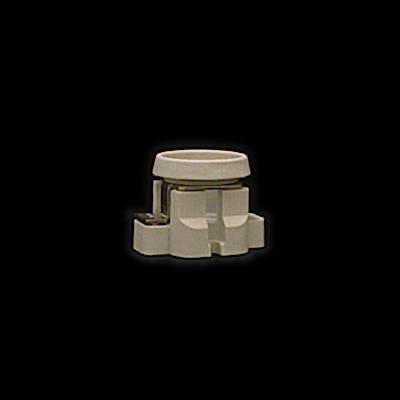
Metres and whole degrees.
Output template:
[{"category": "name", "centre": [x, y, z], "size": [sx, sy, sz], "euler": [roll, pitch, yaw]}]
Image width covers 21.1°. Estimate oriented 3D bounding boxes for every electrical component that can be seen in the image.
[{"category": "electrical component", "centre": [0.000, 0.000, 0.642], "size": [0.079, 0.057, 0.057], "euler": [-3, 12, -23]}]
